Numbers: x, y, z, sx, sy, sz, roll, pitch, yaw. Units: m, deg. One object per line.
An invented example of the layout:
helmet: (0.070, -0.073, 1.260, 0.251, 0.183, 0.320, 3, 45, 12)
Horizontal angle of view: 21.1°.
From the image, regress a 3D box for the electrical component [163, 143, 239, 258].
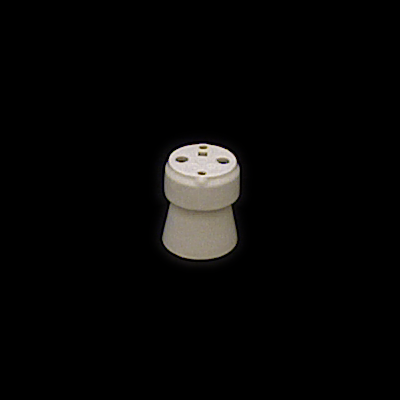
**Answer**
electrical component: (0.000, 0.000, 0.636, 0.045, 0.056, 0.044, 1, 32, 0)
